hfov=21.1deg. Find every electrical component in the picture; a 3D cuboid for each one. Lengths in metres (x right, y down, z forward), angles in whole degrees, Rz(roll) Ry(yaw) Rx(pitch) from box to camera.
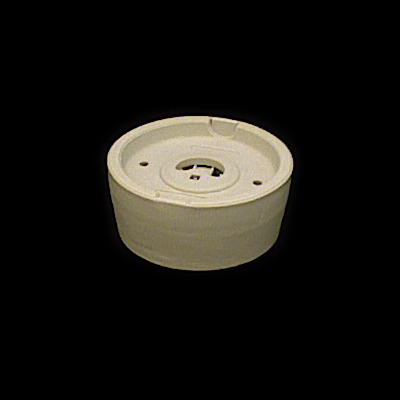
[{"bbox_3d":[0.000,0.000,0.638,0.108,0.061,0.106,1,31,0],"label":"electrical component"}]
